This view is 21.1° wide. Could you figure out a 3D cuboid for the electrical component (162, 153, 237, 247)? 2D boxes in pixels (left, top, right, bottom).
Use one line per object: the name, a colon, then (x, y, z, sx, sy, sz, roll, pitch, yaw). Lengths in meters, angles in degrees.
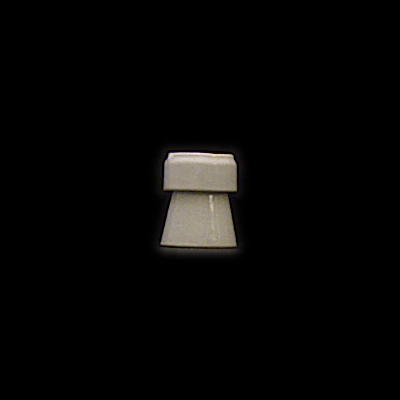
electrical component: (0.000, 0.000, 0.648, 0.045, 0.055, 0.044, 1, 2, 0)
